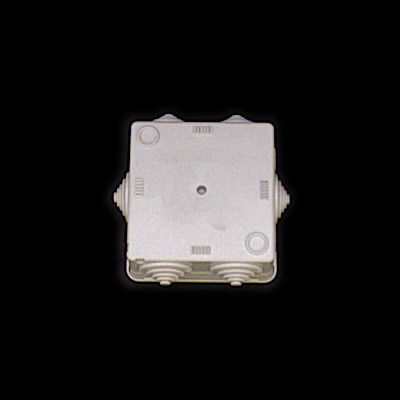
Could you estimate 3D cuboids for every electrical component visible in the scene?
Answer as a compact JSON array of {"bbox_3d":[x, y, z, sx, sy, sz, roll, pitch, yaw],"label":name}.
[{"bbox_3d":[0.000,0.000,0.631,0.100,0.100,0.048,1,-17,0],"label":"electrical component"}]
